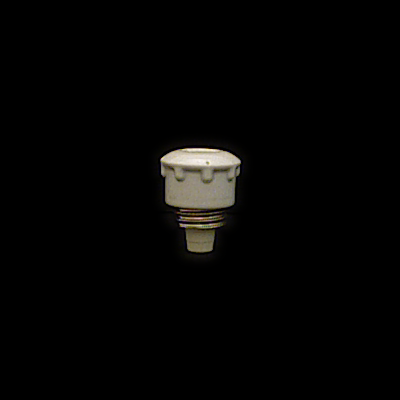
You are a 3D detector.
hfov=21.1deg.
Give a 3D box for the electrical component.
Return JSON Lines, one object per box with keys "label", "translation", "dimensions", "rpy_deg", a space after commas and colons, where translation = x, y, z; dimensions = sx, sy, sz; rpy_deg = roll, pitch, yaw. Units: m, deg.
{"label": "electrical component", "translation": [0.000, 0.000, 0.649], "dimensions": [0.048, 0.062, 0.048], "rpy_deg": [1, 11, 0]}
